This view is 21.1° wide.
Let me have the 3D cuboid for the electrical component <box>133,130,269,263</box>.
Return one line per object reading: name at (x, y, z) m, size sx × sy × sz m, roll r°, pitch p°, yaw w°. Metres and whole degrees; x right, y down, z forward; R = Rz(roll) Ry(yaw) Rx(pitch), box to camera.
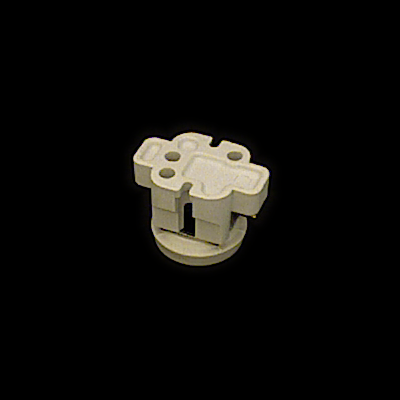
electrical component at (0.000, 0.000, 0.640) m, size 0.078 × 0.057 × 0.057 m, roll 16°, pitch 44°, yaw 14°
